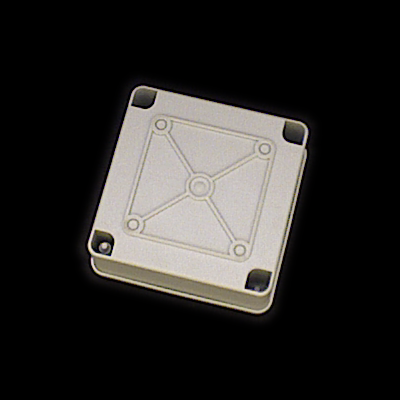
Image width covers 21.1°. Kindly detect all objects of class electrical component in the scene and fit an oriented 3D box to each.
[{"bbox_3d":[0.000,0.000,0.627,0.109,0.109,0.056,13,-16,5],"label":"electrical component"}]
